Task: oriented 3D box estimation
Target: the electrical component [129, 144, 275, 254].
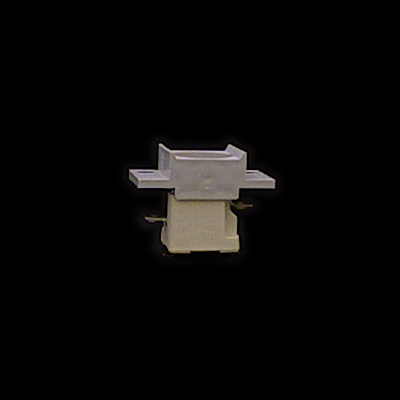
[{"bbox_3d":[0.000,0.000,0.642,0.081,0.064,0.042,0,12,-11],"label":"electrical component"}]
